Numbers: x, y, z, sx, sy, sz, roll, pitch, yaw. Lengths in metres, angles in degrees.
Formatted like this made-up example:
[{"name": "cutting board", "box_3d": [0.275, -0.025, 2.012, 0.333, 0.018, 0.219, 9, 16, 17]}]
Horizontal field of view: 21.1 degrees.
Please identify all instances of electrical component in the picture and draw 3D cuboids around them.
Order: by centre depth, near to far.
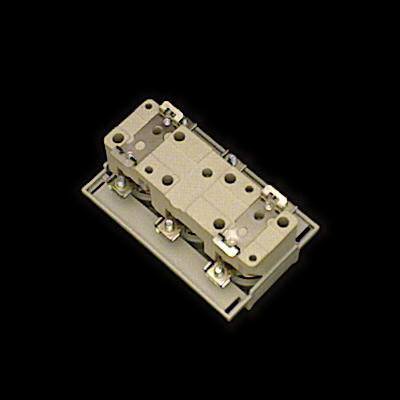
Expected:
[{"name": "electrical component", "box_3d": [0.000, 0.000, 0.632, 0.121, 0.079, 0.063, 40, -19, 18]}]
